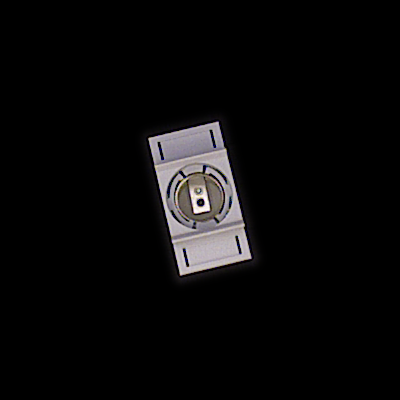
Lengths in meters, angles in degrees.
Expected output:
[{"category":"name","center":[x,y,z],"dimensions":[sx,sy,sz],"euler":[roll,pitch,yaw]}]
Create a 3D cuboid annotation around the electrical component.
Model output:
[{"category":"electrical component","center":[0.000,0.000,0.625],"dimensions":[0.042,0.081,0.063],"euler":[-13,-6,0]}]
